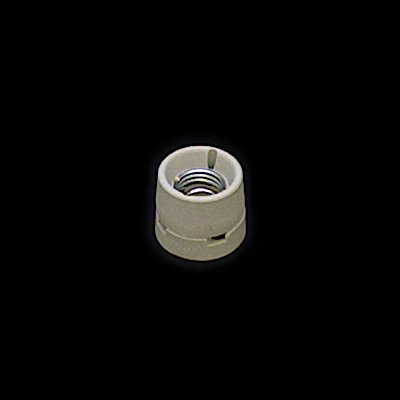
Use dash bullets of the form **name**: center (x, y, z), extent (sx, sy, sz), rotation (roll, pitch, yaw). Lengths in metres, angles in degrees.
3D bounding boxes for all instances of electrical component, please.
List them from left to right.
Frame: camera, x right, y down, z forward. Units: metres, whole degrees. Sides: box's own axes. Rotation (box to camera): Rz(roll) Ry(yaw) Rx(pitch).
- **electrical component**: center (0.000, 0.000, 0.634), extent (0.055, 0.047, 0.055), rotation (0, 43, 0)
